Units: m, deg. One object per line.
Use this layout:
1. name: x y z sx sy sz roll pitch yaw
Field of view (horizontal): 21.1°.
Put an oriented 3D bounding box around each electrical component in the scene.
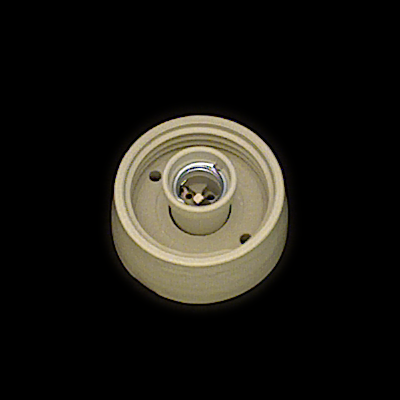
1. electrical component: 0.000 0.000 0.633 0.108 0.108 0.060 0 -27 -1
